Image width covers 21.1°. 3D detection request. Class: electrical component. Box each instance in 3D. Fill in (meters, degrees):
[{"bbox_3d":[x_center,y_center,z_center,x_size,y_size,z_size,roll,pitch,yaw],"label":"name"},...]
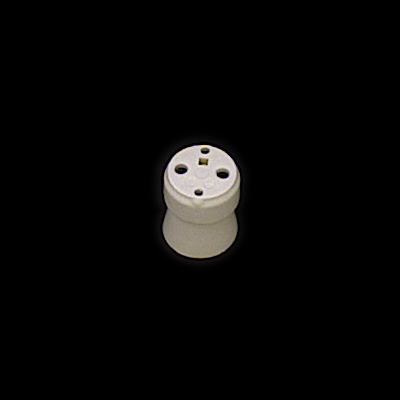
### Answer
[{"bbox_3d":[0.000,0.000,0.630,0.045,0.044,0.055,0,-37,-1],"label":"electrical component"}]
